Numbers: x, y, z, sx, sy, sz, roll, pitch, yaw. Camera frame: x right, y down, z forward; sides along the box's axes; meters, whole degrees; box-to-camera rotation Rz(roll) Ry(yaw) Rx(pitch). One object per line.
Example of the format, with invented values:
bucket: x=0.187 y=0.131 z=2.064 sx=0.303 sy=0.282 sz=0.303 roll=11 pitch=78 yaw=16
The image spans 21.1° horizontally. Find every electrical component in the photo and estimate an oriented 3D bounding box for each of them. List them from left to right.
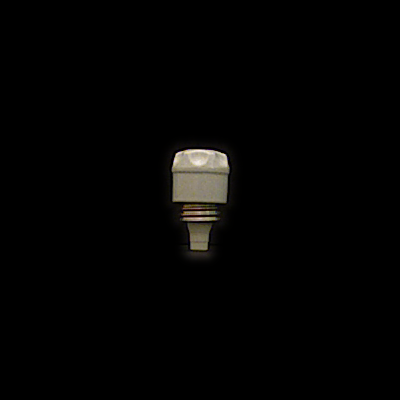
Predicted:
electrical component: x=0.000 y=0.000 z=0.660 sx=0.035 sy=0.061 sz=0.035 roll=1 pitch=1 yaw=0
